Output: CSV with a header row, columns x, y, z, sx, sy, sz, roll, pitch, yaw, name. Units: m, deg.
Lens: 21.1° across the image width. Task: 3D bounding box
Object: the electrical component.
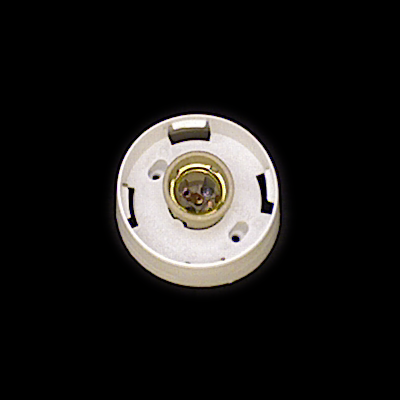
x,y,z,sx,sy,sz,roll,pitch,yaw,name
0.000,0.000,0.624,0.099,0.099,0.063,0,-17,0,electrical component
